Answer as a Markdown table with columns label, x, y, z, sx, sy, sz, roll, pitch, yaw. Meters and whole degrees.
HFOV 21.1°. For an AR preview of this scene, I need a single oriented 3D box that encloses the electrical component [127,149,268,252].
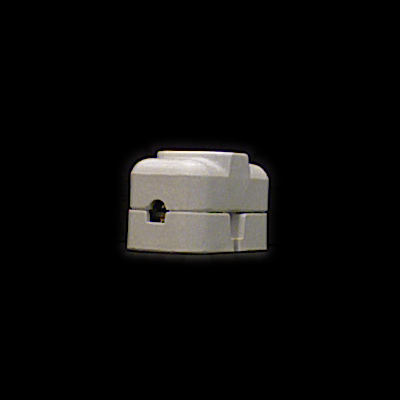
| label | x | y | z | sx | sy | sz | roll | pitch | yaw |
| --- | --- | --- | --- | --- | --- | --- | --- | --- | --- |
| electrical component | 0.000 | 0.000 | 0.658 | 0.053 | 0.059 | 0.096 | 3 | 1 | 31 |
